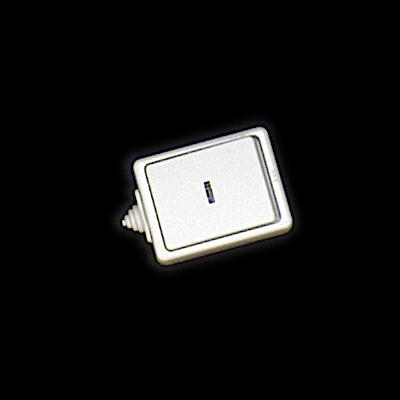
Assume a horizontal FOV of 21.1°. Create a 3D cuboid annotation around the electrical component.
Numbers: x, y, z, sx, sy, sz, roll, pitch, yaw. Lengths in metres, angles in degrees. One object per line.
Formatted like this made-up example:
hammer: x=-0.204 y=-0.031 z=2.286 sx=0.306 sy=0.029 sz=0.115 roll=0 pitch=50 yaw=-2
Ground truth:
electrical component: x=0.000 y=0.000 z=0.627 sx=0.096 sy=0.062 sz=0.061 roll=-15 pitch=-7 yaw=-1
